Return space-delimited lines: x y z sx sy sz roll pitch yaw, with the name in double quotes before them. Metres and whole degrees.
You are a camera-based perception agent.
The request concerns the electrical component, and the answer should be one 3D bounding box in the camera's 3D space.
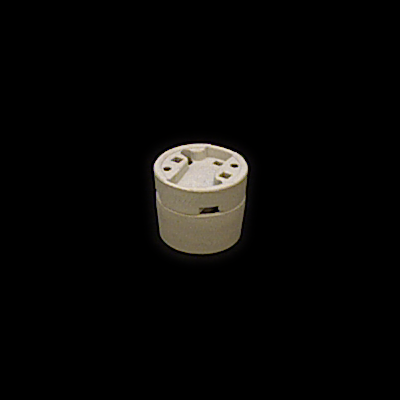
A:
"electrical component" 0.000 0.000 0.637 0.055 0.047 0.055 1 31 0
